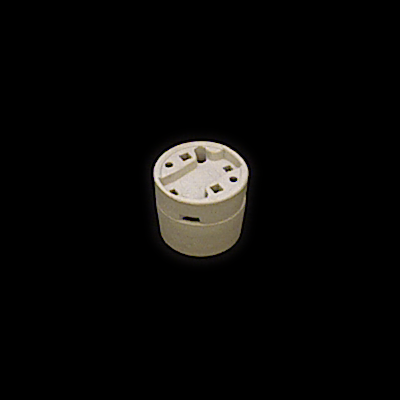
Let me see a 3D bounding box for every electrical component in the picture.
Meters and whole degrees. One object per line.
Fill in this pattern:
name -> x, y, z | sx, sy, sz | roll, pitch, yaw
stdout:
electrical component -> 0.000, 0.000, 0.635 | 0.055, 0.047, 0.055 | 1, 42, 0
